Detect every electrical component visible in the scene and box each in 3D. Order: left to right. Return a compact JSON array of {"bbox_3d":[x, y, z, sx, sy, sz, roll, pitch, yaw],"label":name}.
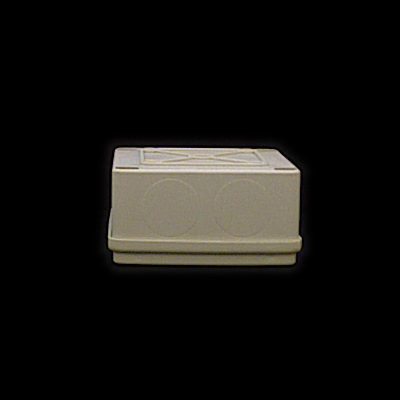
[{"bbox_3d":[0.000,0.000,0.645,0.109,0.056,0.108,0,10,-4],"label":"electrical component"}]
